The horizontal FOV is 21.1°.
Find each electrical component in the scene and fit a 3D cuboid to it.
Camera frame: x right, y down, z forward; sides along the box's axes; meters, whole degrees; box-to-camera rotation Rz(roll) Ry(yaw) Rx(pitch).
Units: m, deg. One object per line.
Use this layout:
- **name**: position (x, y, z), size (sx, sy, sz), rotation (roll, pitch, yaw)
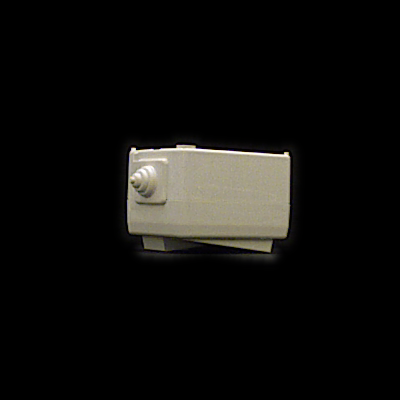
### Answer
- **electrical component**: position (0.000, 0.000, 0.643), size (0.097, 0.061, 0.061), rotation (2, 1, -35)
